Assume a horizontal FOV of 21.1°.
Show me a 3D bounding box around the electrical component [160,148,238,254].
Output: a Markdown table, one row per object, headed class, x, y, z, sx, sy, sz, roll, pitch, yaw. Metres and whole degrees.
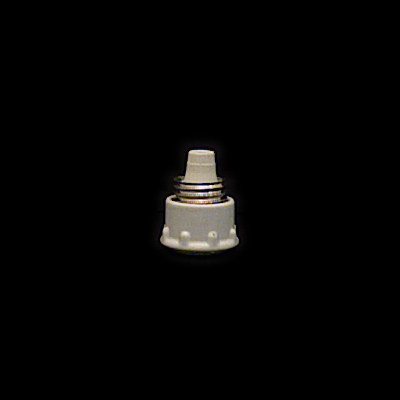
| class | x | y | z | sx | sy | sz | roll | pitch | yaw |
| --- | --- | --- | --- | --- | --- | --- | --- | --- | --- |
| electrical component | 0.000 | 0.000 | 0.652 | 0.048 | 0.062 | 0.048 | 2 | 11 | 0 |
